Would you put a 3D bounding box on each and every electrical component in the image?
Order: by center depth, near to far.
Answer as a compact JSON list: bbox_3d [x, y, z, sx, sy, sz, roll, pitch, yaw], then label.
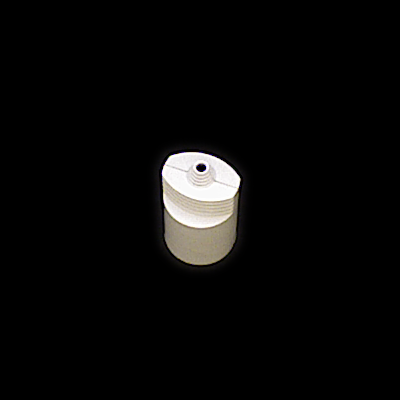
[{"bbox_3d":[0.000,0.000,0.617,0.043,0.043,0.081,0,-27,0],"label":"electrical component"}]
